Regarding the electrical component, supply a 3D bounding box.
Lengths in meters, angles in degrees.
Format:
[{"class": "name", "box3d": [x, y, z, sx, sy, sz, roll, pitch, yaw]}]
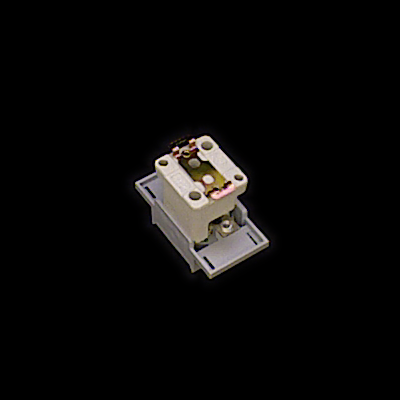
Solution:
[{"class": "electrical component", "box3d": [0.000, 0.000, 0.627, 0.042, 0.080, 0.064, -29, -32, -21]}]
